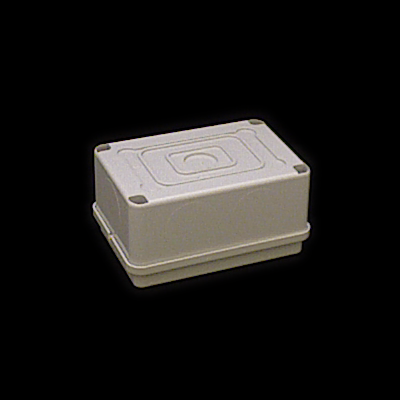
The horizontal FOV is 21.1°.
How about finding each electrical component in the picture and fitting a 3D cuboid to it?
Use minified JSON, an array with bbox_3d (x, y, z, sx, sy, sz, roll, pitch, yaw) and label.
[{"bbox_3d":[0.000,0.000,0.635,0.113,0.058,0.077,-11,34,-19],"label":"electrical component"}]
